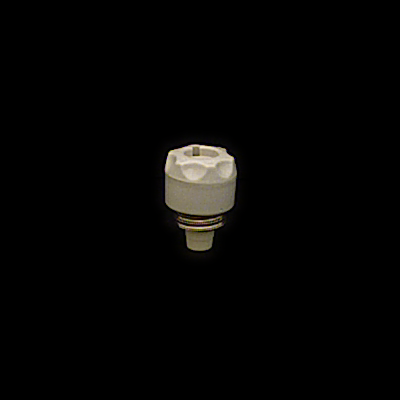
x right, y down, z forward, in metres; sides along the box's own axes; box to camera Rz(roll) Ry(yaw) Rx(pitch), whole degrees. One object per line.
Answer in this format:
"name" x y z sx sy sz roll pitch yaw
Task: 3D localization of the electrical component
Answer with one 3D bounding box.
"electrical component" 0.000 0.000 0.645 0.043 0.063 0.043 1 23 0
